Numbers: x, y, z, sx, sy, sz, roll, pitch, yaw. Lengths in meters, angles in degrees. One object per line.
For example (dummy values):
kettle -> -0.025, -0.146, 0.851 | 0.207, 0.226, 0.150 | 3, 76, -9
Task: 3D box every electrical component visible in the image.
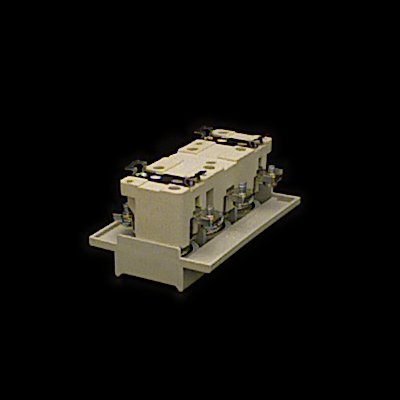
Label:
electrical component -> 0.000, 0.000, 0.646 | 0.078, 0.064, 0.121 | 11, 23, 26
